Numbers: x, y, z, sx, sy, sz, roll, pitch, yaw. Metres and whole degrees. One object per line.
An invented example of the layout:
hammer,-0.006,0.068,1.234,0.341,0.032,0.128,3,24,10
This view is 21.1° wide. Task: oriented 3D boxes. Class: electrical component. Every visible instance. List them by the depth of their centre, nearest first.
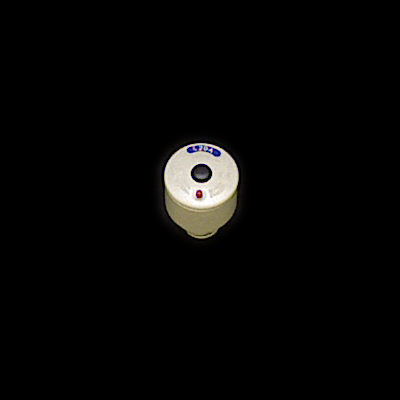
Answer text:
electrical component,0.000,0.000,0.617,0.040,0.040,0.078,0,-27,0
